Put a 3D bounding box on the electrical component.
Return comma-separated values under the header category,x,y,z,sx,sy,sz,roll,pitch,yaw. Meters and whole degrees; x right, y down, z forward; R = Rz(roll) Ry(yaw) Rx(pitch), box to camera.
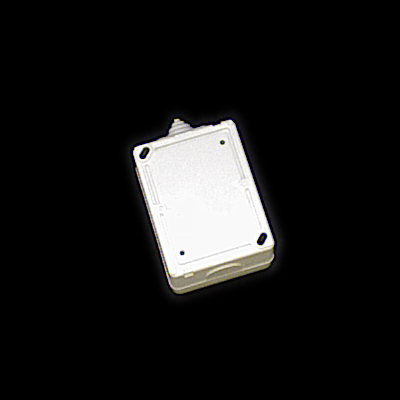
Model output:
category,x,y,z,sx,sy,sz,roll,pitch,yaw
electrical component,0.000,0.000,0.628,0.062,0.096,0.061,-17,-16,-4
